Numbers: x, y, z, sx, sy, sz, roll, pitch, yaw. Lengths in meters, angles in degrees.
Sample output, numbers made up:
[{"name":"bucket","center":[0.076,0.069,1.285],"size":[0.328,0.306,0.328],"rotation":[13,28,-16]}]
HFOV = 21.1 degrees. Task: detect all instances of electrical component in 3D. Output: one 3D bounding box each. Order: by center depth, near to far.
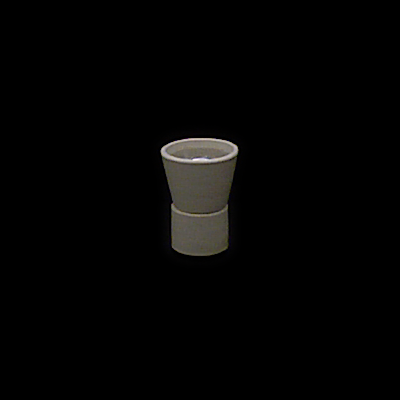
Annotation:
[{"name":"electrical component","center":[0.000,0.000,0.636],"size":[0.044,0.066,0.044],"rotation":[0,22,0]}]
